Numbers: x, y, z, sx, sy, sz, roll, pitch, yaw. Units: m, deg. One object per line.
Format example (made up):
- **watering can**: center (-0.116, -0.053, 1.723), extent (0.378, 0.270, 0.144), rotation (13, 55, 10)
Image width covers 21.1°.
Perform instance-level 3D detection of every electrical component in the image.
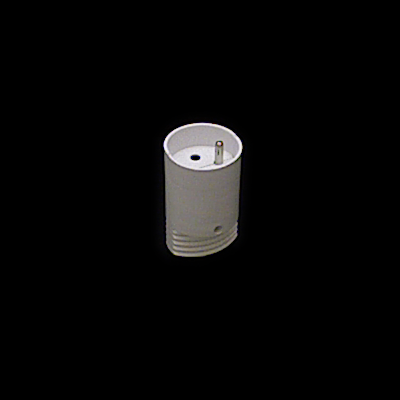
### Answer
- **electrical component**: center (0.000, 0.000, 0.625), extent (0.043, 0.082, 0.042), rotation (1, 42, -1)
